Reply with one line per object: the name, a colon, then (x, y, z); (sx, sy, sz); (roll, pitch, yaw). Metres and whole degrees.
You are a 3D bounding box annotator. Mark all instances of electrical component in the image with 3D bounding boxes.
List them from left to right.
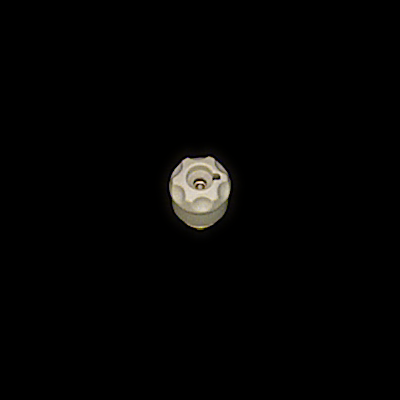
electrical component: (0.000, 0.000, 0.633); (0.035, 0.035, 0.061); (0, -26, 0)
